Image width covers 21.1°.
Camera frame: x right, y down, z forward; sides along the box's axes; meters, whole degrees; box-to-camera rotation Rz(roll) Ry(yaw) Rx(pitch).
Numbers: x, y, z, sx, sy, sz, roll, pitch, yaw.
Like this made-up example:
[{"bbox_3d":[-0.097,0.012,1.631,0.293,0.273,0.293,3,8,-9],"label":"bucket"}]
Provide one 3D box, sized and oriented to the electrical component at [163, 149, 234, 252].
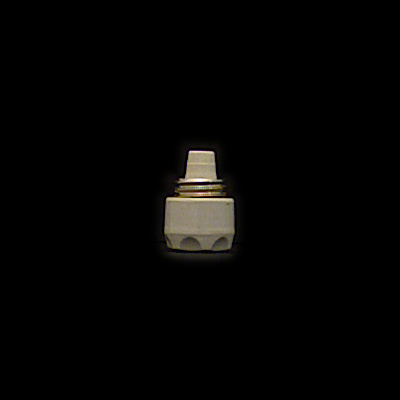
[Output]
[{"bbox_3d":[0.000,0.000,0.655,0.043,0.062,0.043,1,3,0],"label":"electrical component"}]
